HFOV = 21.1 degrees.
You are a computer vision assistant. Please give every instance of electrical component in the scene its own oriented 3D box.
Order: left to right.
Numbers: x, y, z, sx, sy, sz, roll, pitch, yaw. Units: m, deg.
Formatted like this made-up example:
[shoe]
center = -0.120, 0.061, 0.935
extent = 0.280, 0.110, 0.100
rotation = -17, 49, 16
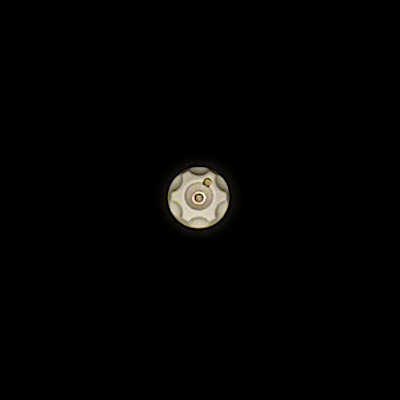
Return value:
[electrical component]
center = 0.000, 0.000, 0.635
extent = 0.035, 0.035, 0.061
rotation = 0, -5, 0
